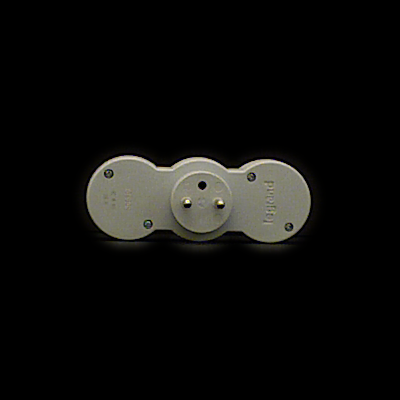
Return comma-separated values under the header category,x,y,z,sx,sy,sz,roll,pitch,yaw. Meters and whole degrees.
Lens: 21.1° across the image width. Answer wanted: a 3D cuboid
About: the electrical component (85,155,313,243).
category,x,y,z,sx,sy,sz,roll,pitch,yaw
electrical component,0.000,0.000,0.653,0.138,0.052,0.073,1,2,-5
